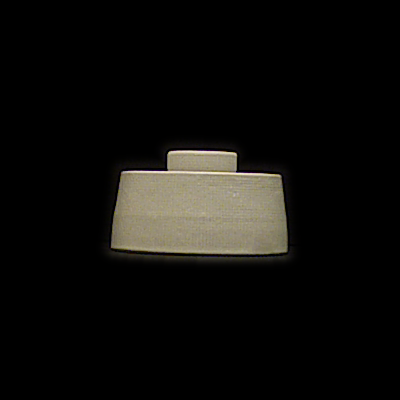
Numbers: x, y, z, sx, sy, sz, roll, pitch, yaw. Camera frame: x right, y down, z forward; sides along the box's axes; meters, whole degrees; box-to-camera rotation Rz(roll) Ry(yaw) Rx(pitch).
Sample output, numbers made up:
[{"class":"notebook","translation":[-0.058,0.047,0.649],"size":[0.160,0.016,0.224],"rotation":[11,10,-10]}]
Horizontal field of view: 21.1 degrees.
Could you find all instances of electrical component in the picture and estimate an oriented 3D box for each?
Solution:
[{"class":"electrical component","translation":[0.000,0.000,0.656],"size":[0.108,0.060,0.108],"rotation":[1,0,0]}]
